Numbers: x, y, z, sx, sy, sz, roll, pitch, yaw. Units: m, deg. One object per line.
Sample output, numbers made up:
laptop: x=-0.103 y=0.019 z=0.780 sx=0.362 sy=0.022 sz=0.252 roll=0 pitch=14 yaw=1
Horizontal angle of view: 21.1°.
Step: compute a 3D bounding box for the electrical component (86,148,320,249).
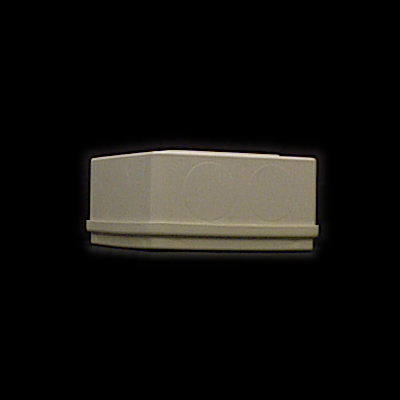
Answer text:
electrical component: x=0.000 y=0.000 z=0.648 sx=0.109 sy=0.056 sz=0.108 roll=1 pitch=0 yaw=-27
